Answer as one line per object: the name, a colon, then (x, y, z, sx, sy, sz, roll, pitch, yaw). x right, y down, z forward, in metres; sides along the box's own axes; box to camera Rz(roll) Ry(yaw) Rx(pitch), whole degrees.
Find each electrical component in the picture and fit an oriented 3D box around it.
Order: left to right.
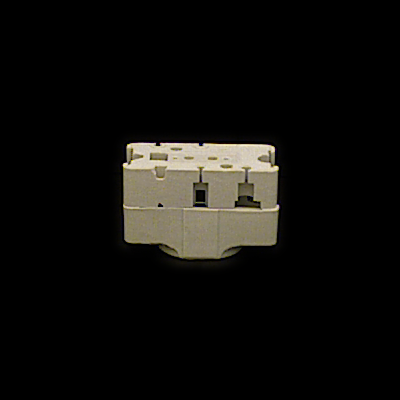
electrical component: (0.000, 0.000, 0.646, 0.089, 0.056, 0.049, 0, 23, -1)
